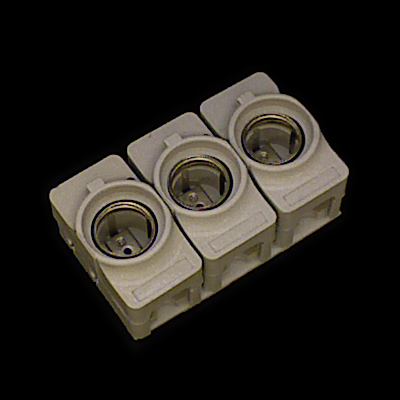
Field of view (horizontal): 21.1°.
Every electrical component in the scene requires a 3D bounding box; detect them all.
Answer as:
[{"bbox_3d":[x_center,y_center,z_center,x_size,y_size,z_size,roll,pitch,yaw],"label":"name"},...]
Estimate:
[{"bbox_3d":[0.000,0.000,0.632,0.150,0.089,0.062,-31,-24,-15],"label":"electrical component"}]
